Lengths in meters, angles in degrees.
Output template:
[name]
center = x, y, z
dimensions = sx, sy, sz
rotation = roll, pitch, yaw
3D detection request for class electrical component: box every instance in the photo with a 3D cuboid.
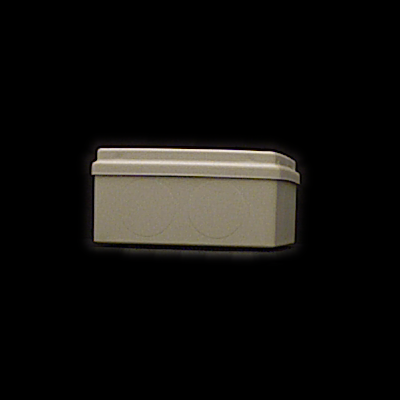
[electrical component]
center = 0.000, 0.000, 0.650
dimensions = 0.108, 0.056, 0.109
rotation = 2, 0, 11
